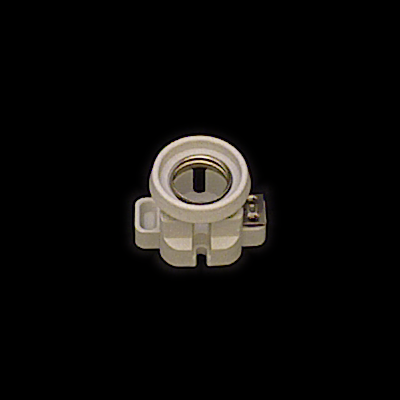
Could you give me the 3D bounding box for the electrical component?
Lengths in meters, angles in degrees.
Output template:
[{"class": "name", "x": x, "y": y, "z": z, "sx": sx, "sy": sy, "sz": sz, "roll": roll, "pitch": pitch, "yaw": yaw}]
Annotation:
[{"class": "electrical component", "x": 0.000, "y": 0.000, "z": 0.630, "sx": 0.078, "sy": 0.057, "sz": 0.057, "roll": -1, "pitch": -38, "yaw": -2}]
